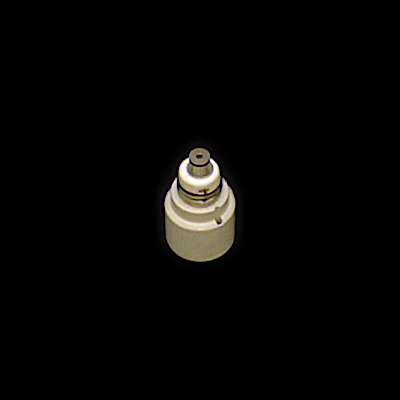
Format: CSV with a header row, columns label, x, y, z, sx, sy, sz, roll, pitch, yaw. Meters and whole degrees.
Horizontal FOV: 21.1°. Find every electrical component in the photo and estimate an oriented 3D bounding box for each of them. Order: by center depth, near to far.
label,x,y,z,sx,sy,sz,roll,pitch,yaw
electrical component,0.000,0.000,0.620,0.040,0.040,0.079,0,-38,1
